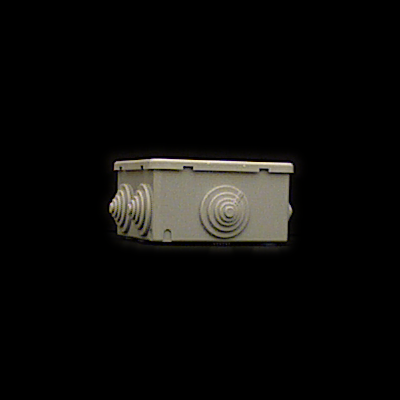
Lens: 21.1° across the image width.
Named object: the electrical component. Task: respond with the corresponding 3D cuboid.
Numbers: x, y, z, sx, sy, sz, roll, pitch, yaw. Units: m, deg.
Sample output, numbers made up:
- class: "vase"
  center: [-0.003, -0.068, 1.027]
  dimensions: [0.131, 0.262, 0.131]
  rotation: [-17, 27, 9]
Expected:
- class: "electrical component"
  center: [0.000, 0.000, 0.656]
  dimensions: [0.100, 0.048, 0.099]
  rotation: [1, 1, -20]
